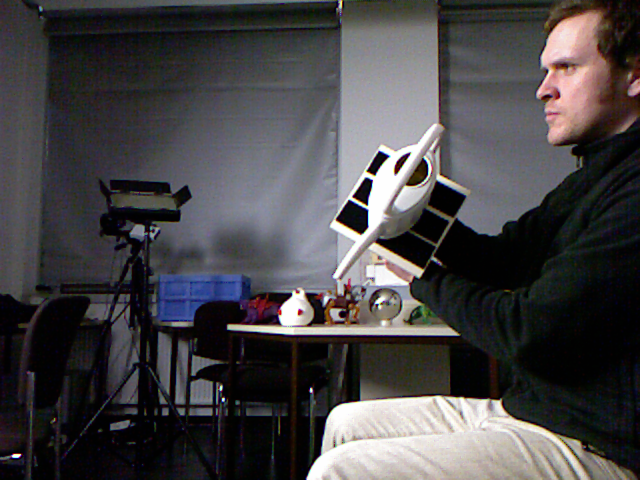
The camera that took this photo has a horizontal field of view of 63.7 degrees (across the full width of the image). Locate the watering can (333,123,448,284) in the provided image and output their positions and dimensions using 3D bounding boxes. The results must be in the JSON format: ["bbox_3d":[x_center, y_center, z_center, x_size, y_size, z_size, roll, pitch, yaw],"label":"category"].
[{"bbox_3d":[0.124,-0.057,0.927,0.105,0.352,0.222,33,-12,11],"label":"watering can"}]
